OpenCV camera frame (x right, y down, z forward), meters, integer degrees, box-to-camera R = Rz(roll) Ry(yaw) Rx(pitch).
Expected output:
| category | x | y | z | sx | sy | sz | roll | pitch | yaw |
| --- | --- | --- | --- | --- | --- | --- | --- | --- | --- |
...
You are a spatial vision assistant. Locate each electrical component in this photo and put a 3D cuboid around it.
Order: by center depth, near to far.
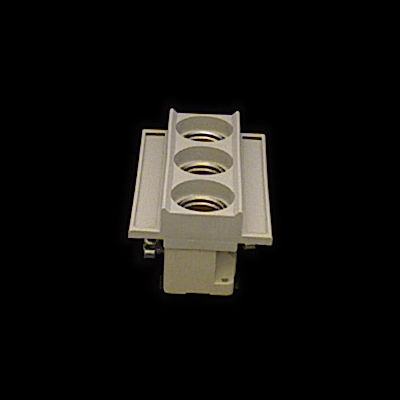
| category | x | y | z | sx | sy | sz | roll | pitch | yaw |
| --- | --- | --- | --- | --- | --- | --- | --- | --- | --- |
| electrical component | 0.000 | 0.000 | 0.647 | 0.079 | 0.064 | 0.119 | 2 | 32 | 0 |
